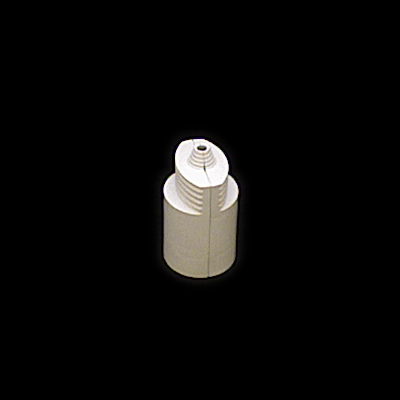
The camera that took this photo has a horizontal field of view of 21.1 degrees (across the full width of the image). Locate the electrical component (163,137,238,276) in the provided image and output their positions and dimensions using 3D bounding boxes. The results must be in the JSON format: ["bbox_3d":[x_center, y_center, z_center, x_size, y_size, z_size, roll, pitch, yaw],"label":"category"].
[{"bbox_3d":[0.000,0.000,0.623,0.043,0.082,0.042,1,42,0],"label":"electrical component"}]
